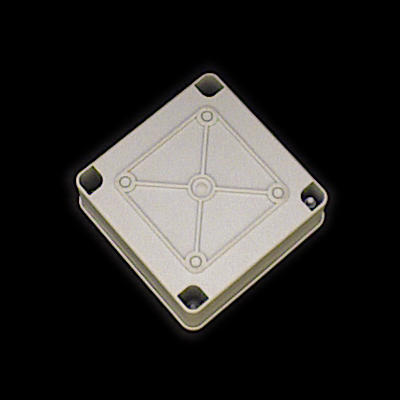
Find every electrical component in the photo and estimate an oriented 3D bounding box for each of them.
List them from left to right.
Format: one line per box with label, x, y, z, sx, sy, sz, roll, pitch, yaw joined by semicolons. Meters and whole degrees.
electrical component;0.000;0.000;0.628;0.109;0.109;0.056;-39;-13;-11
